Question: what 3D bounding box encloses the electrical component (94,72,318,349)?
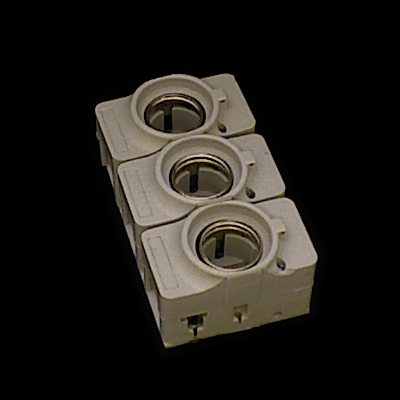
[{"bbox_3d":[0.000,0.000,0.634,0.089,0.148,0.062,-14,-36,-12],"label":"electrical component"}]
